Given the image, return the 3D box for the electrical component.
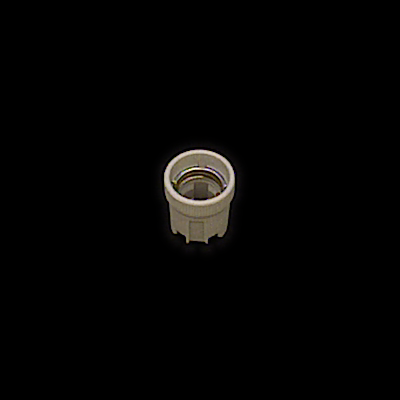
[{"bbox_3d":[0.000,0.000,0.629,0.040,0.040,0.046,0,-38,-1],"label":"electrical component"}]
